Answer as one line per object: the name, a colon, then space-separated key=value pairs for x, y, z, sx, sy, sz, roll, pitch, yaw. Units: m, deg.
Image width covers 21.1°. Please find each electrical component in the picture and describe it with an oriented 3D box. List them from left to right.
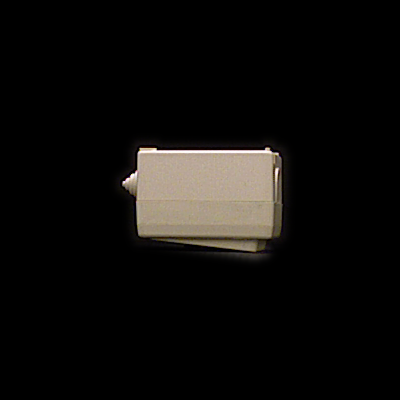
electrical component: x=0.000 y=0.000 z=0.653 sx=0.096 sy=0.061 sz=0.062 roll=1 pitch=0 yaw=9
